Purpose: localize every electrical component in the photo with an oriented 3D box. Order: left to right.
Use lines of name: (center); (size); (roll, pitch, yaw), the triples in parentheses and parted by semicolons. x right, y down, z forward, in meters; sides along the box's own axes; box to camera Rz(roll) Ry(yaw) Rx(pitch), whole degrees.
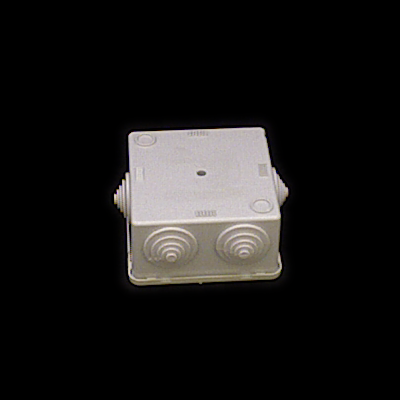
electrical component: (0.000, 0.000, 0.635); (0.100, 0.049, 0.099); (-2, 43, -3)
